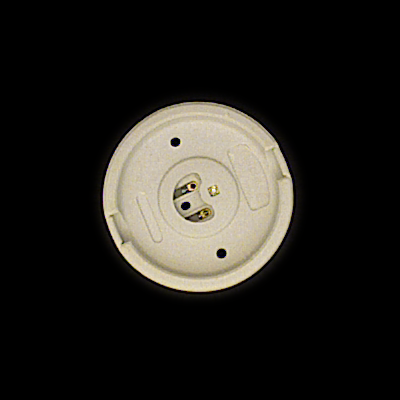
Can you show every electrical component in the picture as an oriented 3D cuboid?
[{"bbox_3d":[0.000,0.000,0.635,0.108,0.108,0.060,0,-6,0],"label":"electrical component"}]
